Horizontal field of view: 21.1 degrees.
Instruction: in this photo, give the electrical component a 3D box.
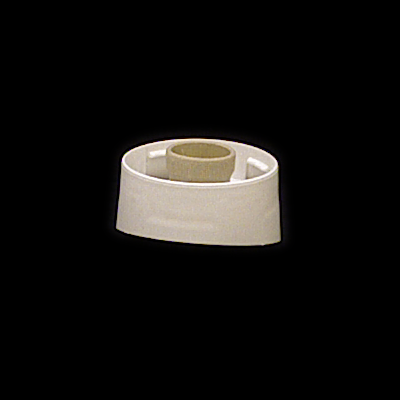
[{"bbox_3d":[0.000,0.000,0.638,0.099,0.065,0.097,1,20,0],"label":"electrical component"}]
